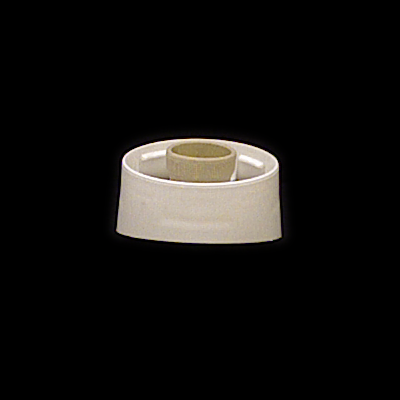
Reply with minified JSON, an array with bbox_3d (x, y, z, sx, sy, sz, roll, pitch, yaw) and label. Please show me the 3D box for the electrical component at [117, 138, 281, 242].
[{"bbox_3d":[0.000,0.000,0.638,0.099,0.065,0.097,1,20,0],"label":"electrical component"}]
